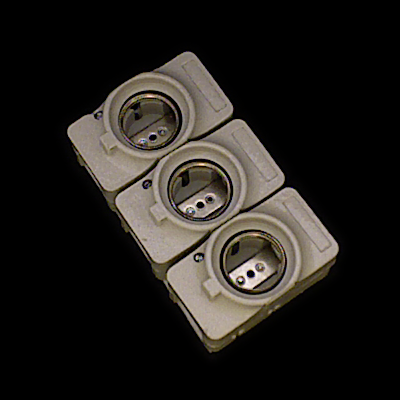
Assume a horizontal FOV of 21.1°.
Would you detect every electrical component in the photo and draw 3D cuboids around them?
[{"bbox_3d":[0.000,0.000,0.631,0.090,0.150,0.062,-34,-14,-9],"label":"electrical component"}]
